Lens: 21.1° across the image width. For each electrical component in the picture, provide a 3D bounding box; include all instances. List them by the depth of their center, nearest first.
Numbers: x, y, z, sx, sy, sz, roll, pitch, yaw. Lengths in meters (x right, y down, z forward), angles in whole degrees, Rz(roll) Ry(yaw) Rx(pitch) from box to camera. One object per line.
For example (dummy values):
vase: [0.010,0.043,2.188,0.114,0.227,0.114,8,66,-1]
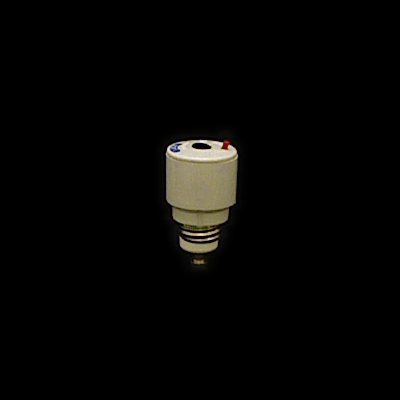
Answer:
electrical component: [0.000,0.000,0.634,0.040,0.079,0.039,1,21,-1]
